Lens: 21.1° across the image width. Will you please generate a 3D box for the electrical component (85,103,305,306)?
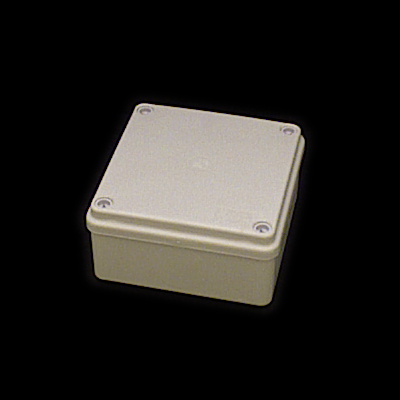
[{"bbox_3d":[0.000,0.000,0.633,0.108,0.057,0.108,9,42,9],"label":"electrical component"}]
